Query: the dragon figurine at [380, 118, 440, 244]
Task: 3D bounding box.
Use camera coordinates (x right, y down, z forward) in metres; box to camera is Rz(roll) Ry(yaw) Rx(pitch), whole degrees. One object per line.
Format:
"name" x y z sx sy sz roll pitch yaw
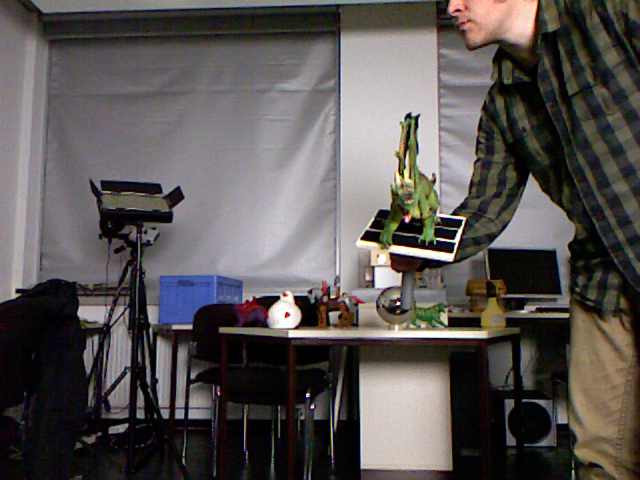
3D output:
"dragon figurine" 0.201 -0.140 1.091 0.122 0.237 0.420 5 34 12
